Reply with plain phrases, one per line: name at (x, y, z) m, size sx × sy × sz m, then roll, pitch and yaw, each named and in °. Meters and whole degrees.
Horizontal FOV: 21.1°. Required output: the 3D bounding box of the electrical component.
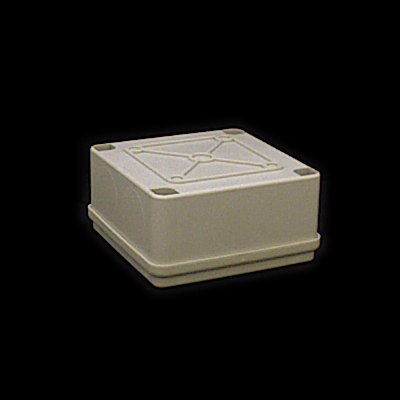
electrical component at (0.000, 0.000, 0.642) m, size 0.109 × 0.057 × 0.107 m, roll -8°, pitch 22°, yaw -25°
